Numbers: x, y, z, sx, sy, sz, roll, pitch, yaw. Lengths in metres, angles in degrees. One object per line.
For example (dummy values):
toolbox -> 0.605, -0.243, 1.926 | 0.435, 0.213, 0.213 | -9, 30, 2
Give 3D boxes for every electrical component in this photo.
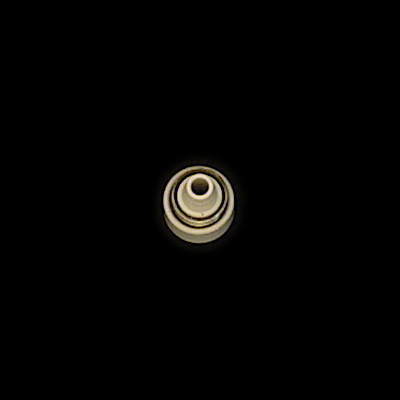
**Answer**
electrical component -> 0.000, 0.000, 0.633 | 0.043, 0.043, 0.061 | 0, -15, -1
